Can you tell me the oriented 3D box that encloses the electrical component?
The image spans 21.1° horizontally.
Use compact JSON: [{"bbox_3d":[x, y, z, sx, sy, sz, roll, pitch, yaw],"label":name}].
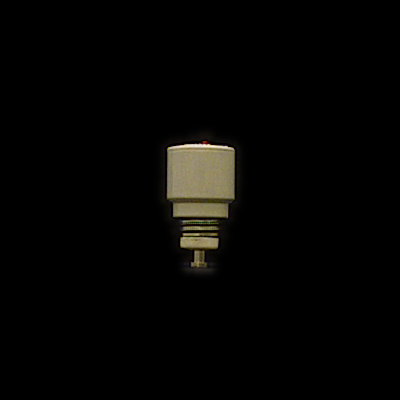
[{"bbox_3d":[0.000,0.000,0.652,0.040,0.078,0.040,1,0,0],"label":"electrical component"}]
